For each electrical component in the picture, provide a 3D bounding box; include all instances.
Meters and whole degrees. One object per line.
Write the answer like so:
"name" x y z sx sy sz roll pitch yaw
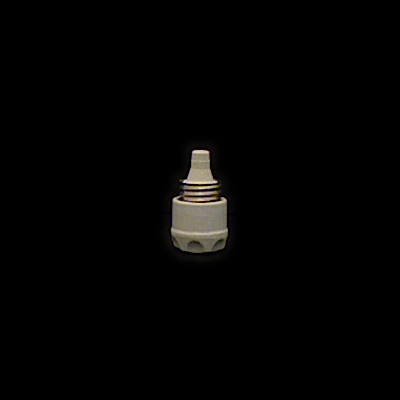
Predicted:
"electrical component" 0.000 0.000 0.655 0.035 0.062 0.035 1 10 0
